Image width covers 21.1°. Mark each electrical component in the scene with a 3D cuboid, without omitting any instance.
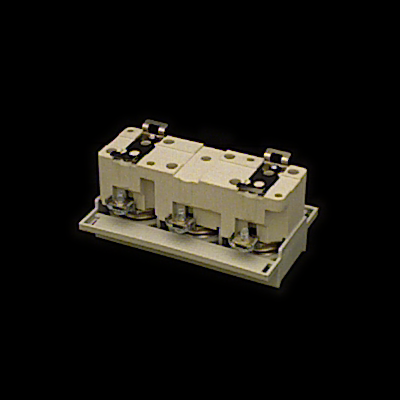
[{"bbox_3d":[0.000,0.000,0.638,0.120,0.064,0.078,14,35,21],"label":"electrical component"}]
